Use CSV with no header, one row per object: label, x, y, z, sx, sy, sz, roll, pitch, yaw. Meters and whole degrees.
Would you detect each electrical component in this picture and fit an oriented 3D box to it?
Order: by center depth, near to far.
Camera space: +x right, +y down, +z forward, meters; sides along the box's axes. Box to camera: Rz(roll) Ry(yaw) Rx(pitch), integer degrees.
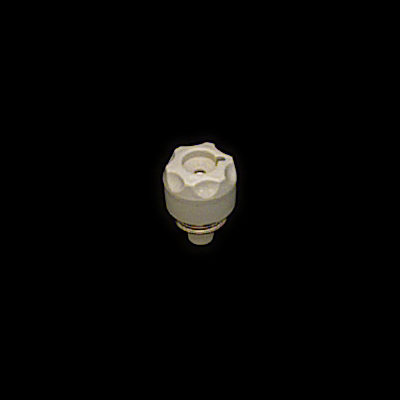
electrical component,0.000,0.000,0.637,0.043,0.062,0.043,0,43,1
